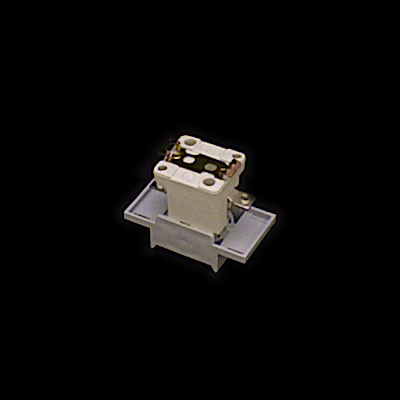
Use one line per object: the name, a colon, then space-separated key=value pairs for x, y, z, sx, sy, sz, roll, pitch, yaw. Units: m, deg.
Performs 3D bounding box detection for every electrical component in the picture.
electrical component: x=0.000 y=0.000 z=0.630 sx=0.080 sy=0.064 sz=0.042 roll=20 pitch=46 yaw=19
